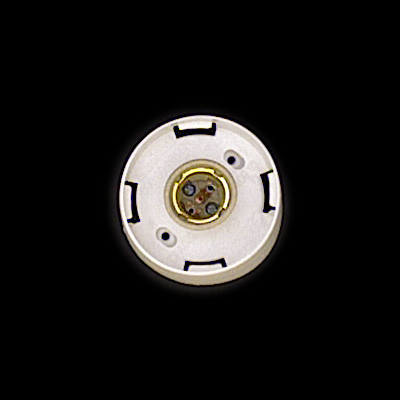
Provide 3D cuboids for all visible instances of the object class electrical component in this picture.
[{"bbox_3d":[0.000,0.000,0.625,0.099,0.099,0.064,0,-6,0],"label":"electrical component"}]
